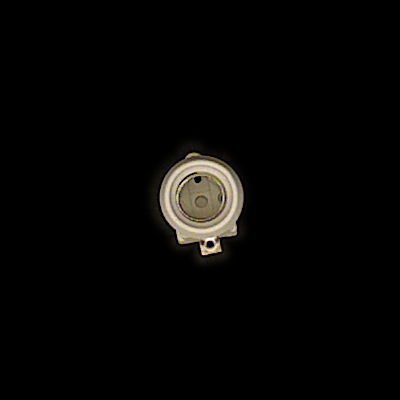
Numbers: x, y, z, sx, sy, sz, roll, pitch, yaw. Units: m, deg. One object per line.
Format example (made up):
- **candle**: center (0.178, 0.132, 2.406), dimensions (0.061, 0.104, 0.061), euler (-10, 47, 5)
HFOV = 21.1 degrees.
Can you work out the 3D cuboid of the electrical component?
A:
- **electrical component**: center (0.000, 0.000, 0.639), dimensions (0.048, 0.066, 0.055), euler (-12, -6, 2)
